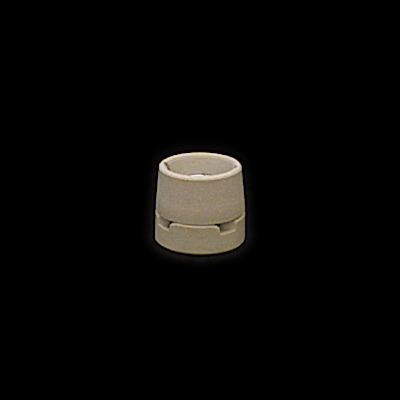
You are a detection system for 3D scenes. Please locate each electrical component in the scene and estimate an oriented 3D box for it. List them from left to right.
[{"bbox_3d":[0.000,0.000,0.642,0.055,0.047,0.055,0,21,0],"label":"electrical component"}]
